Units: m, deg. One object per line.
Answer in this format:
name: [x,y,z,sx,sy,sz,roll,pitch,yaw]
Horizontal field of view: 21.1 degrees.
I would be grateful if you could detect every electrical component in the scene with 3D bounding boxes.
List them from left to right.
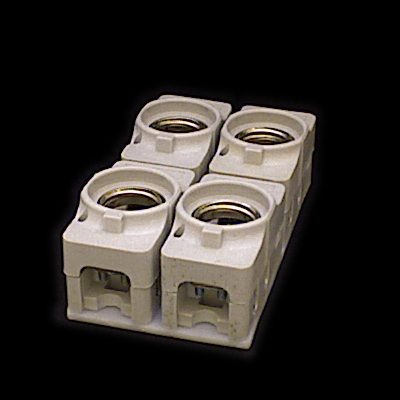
electrical component: [0.000,0.000,0.633,0.105,0.061,0.184,9,32,13]
